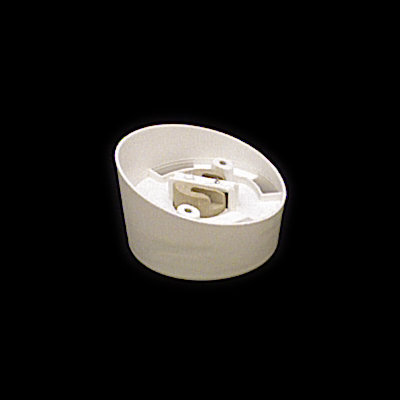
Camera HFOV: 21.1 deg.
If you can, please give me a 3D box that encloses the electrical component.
[{"bbox_3d":[0.000,0.000,0.632,0.099,0.065,0.097,0,31,0],"label":"electrical component"}]
